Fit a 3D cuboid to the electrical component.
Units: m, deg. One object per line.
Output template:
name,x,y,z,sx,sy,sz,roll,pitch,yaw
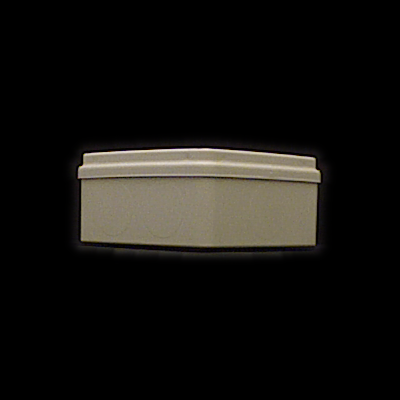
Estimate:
electrical component,0.000,0.000,0.649,0.108,0.056,0.109,1,0,42
